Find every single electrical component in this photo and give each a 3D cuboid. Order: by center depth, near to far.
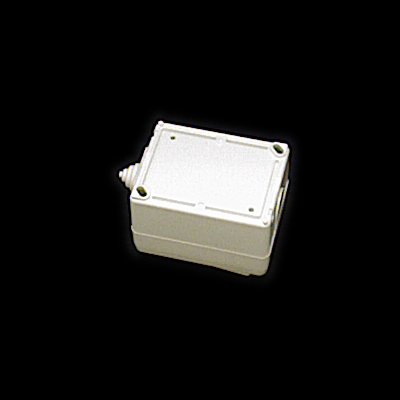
[{"bbox_3d":[0.000,0.000,0.628,0.096,0.062,0.061,11,-37,8],"label":"electrical component"}]
